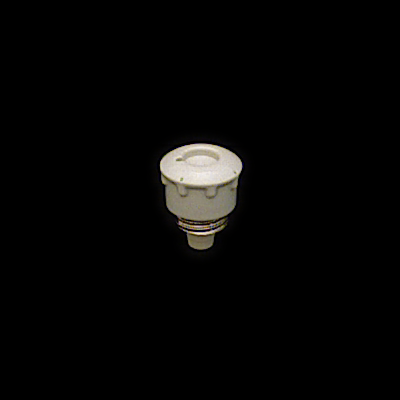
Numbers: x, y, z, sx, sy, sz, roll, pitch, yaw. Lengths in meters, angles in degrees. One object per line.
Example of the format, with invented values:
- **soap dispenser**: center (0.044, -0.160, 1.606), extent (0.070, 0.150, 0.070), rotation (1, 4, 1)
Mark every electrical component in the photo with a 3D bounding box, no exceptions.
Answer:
- **electrical component**: center (0.000, 0.000, 0.639), extent (0.048, 0.063, 0.047), rotation (1, 32, 0)
